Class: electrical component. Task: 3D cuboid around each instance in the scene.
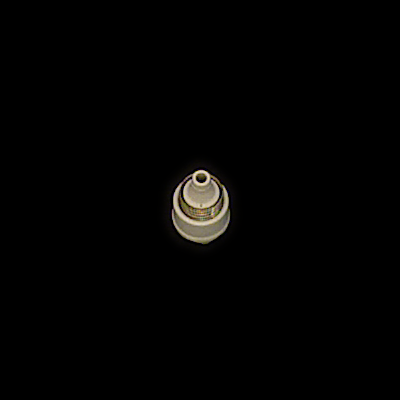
[{"bbox_3d":[0.000,0.000,0.638,0.035,0.035,0.061,0,-26,0],"label":"electrical component"}]
